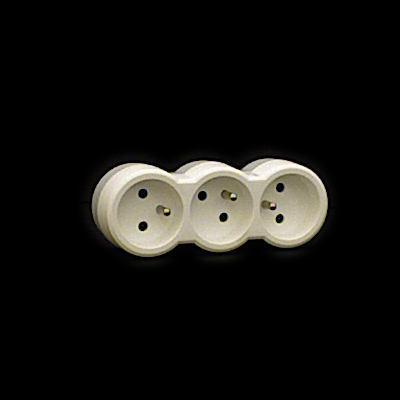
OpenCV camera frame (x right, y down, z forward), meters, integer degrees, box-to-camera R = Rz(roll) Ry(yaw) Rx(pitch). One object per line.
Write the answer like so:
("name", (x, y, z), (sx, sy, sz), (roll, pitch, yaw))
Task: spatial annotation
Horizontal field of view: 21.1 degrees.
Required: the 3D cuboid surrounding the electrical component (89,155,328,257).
("electrical component", (0.000, 0.000, 0.655), (0.139, 0.052, 0.073), (-3, 11, -20))
